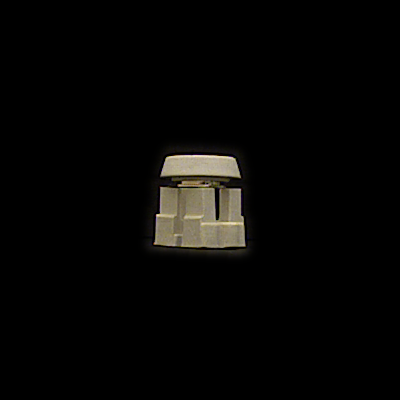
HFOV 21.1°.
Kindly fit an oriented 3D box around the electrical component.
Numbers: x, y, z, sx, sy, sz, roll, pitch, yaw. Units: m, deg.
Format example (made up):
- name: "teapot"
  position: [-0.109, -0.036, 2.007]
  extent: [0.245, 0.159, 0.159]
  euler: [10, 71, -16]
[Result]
- name: "electrical component"
  position: [0.000, 0.000, 0.656]
  extent: [0.065, 0.055, 0.049]
  euler: [3, 0, 45]
